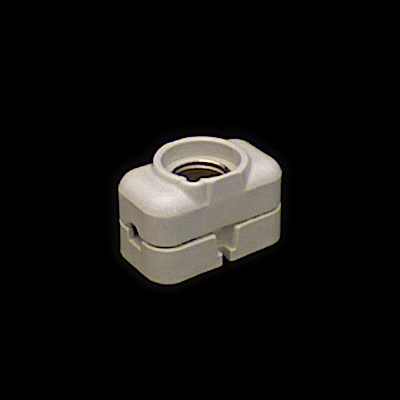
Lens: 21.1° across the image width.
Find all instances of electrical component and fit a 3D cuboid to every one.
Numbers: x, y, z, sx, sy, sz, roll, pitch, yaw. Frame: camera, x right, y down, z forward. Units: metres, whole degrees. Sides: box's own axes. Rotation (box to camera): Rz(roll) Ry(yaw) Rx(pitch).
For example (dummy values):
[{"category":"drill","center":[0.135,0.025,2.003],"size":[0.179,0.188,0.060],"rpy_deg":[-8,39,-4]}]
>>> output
[{"category":"electrical component","center":[0.000,0.000,0.640],"size":[0.095,0.060,0.053],"rpy_deg":[-20,37,-30]}]
